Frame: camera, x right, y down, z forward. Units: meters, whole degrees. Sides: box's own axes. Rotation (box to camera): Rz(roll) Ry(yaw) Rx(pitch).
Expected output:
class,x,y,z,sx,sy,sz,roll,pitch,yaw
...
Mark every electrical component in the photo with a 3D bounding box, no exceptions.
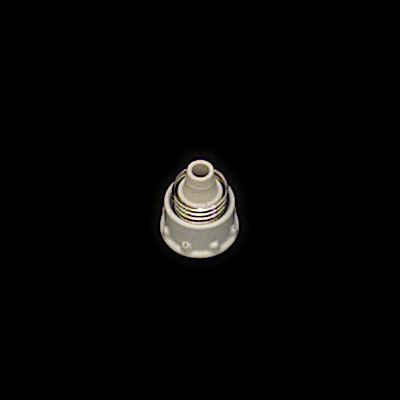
class,x,y,z,sx,sy,sz,roll,pitch,yaw
electrical component,0.000,0.000,0.635,0.048,0.048,0.062,0,-36,-1
